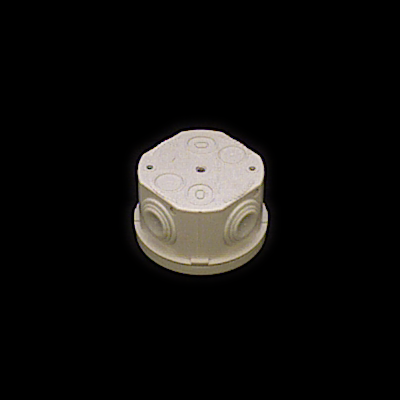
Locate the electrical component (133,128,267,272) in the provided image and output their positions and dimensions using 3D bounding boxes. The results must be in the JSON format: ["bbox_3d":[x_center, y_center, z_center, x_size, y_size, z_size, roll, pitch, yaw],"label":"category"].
[{"bbox_3d":[0.000,0.000,0.634,0.080,0.051,0.080,0,42,0],"label":"electrical component"}]
